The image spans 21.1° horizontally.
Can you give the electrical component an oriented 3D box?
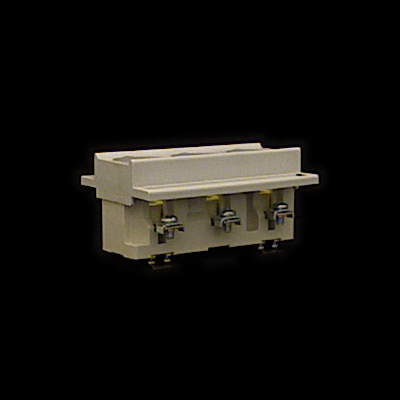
[{"bbox_3d":[0.000,0.000,0.657,0.122,0.063,0.078,-6,12,-33],"label":"electrical component"}]
